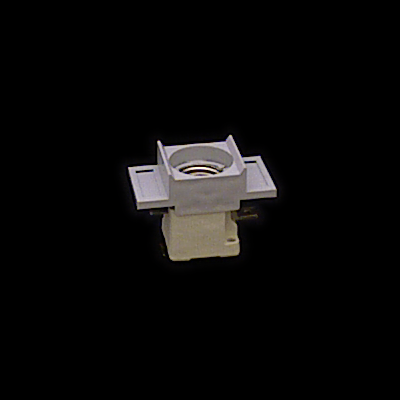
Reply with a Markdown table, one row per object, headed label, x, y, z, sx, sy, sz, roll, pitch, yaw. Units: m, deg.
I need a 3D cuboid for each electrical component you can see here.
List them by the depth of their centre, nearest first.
| label | x | y | z | sx | sy | sz | roll | pitch | yaw |
| --- | --- | --- | --- | --- | --- | --- | --- | --- | --- |
| electrical component | 0.000 | 0.000 | 0.634 | 0.081 | 0.064 | 0.041 | -5 | 31 | -9 |
